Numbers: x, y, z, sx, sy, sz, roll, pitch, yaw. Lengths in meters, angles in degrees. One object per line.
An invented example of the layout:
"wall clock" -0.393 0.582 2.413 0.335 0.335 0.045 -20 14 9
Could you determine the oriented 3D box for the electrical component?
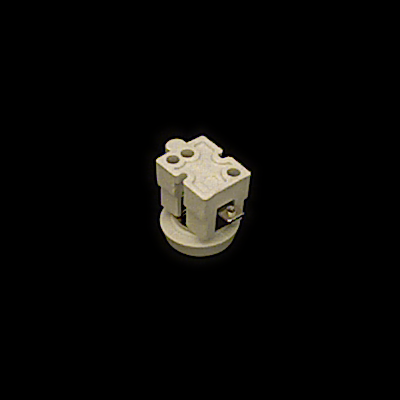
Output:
"electrical component" 0.000 0.000 0.640 0.049 0.056 0.065 -29 51 -30
